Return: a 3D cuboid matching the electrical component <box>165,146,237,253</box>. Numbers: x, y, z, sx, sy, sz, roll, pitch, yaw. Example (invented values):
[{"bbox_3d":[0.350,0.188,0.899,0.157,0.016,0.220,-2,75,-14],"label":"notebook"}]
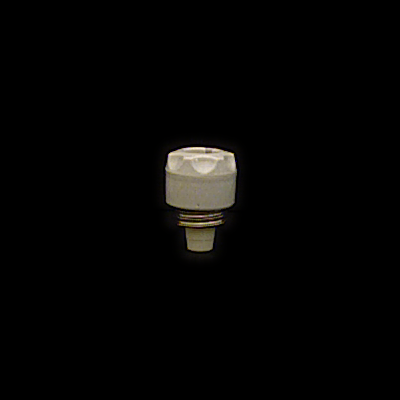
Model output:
[{"bbox_3d":[0.000,0.000,0.650,0.043,0.062,0.043,1,13,0],"label":"electrical component"}]
